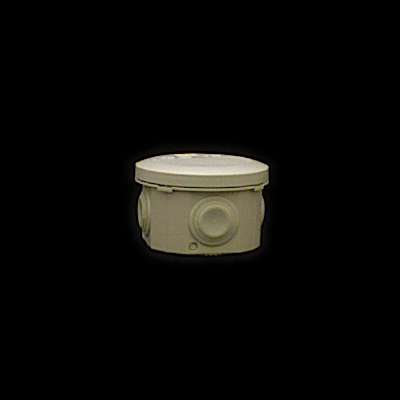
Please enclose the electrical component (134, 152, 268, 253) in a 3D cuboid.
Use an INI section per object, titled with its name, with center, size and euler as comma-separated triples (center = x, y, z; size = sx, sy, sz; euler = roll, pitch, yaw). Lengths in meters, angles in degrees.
[electrical component]
center = 0.000, 0.000, 0.646
size = 0.080, 0.051, 0.079
euler = 1, 11, 0
